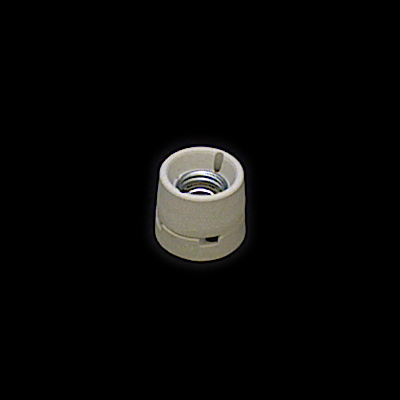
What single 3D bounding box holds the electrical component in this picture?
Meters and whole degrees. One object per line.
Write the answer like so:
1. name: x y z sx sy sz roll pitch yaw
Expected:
1. electrical component: 0.000 0.000 0.637 0.055 0.047 0.055 1 41 -1
